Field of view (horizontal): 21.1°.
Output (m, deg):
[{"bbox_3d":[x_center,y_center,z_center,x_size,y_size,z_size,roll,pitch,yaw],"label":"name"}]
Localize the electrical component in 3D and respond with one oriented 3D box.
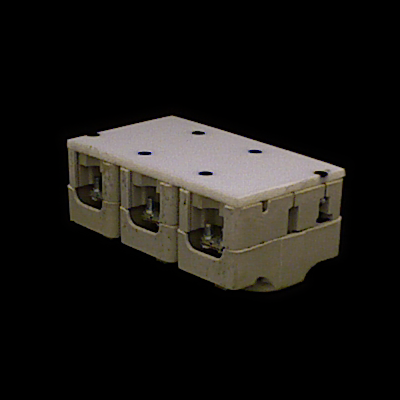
[{"bbox_3d":[0.000,0.000,0.645,0.089,0.063,0.148,-17,26,-40],"label":"electrical component"}]
